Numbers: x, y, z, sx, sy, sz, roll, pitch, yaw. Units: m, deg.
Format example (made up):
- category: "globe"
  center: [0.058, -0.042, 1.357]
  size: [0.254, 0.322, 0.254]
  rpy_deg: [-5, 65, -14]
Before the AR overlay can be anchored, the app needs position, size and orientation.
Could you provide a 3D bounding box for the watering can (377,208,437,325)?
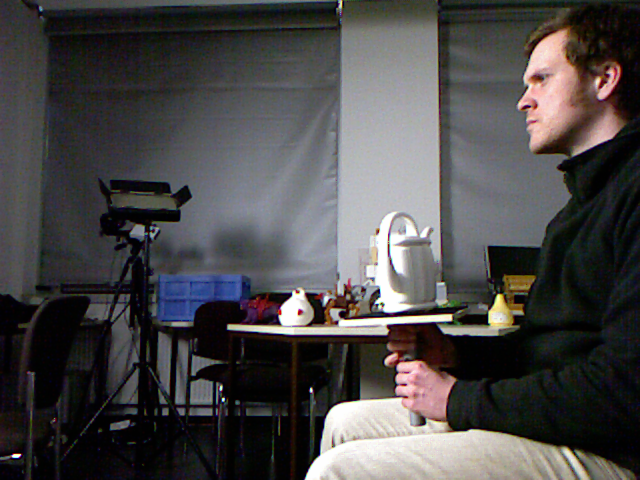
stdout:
- category: "watering can"
  center: [0.188, 0.051, 1.032]
  size: [0.104, 0.225, 0.348]
  rpy_deg: [-4, -4, 27]
